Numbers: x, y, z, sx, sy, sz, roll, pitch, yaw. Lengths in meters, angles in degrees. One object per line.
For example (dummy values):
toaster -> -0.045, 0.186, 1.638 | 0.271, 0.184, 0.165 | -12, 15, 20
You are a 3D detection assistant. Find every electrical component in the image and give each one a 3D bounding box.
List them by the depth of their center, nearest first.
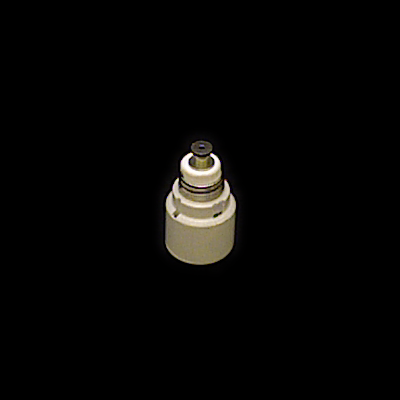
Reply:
electrical component -> 0.000, 0.000, 0.624 | 0.040, 0.079, 0.039 | 1, 41, 0
